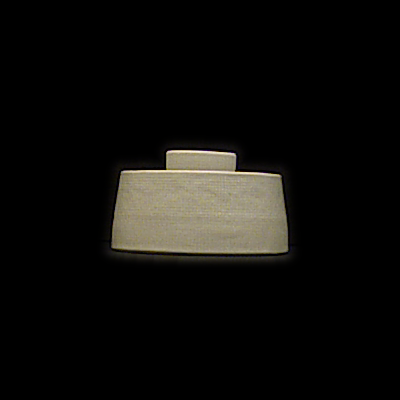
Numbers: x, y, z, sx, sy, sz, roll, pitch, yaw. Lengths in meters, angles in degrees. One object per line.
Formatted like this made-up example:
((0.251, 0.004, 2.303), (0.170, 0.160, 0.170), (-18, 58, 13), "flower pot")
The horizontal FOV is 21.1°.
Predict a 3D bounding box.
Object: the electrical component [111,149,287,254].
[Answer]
((0.000, 0.000, 0.656), (0.108, 0.060, 0.108), (1, 1, 1), "electrical component")
